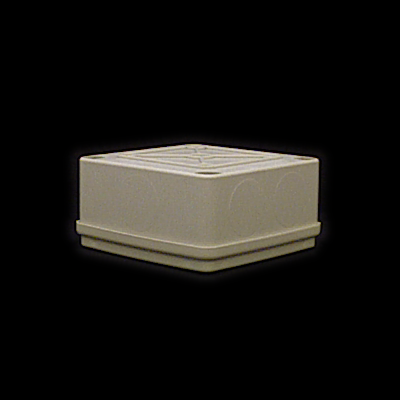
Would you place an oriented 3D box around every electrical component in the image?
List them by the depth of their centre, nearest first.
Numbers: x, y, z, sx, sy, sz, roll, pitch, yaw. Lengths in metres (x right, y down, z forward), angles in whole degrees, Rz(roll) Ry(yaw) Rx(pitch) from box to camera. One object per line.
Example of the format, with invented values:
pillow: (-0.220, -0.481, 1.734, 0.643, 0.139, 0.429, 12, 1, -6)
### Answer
electrical component: (0.000, 0.000, 0.642, 0.108, 0.056, 0.109, 9, 13, 40)
